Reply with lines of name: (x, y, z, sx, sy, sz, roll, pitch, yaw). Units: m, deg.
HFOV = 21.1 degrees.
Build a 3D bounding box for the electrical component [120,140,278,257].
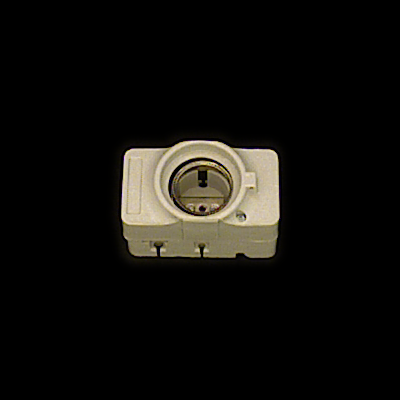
electrical component: (0.000, 0.000, 0.635, 0.089, 0.050, 0.055, 0, -26, 0)
